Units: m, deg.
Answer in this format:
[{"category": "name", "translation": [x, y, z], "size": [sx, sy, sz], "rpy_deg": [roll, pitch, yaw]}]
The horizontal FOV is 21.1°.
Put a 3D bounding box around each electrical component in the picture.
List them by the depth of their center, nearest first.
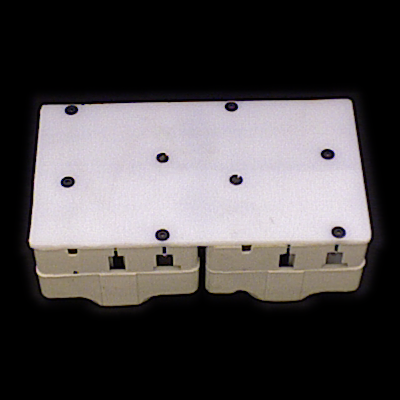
[{"category": "electrical component", "translation": [0.000, 0.000, 0.627], "size": [0.186, 0.105, 0.060], "rpy_deg": [-1, -38, -2]}]
